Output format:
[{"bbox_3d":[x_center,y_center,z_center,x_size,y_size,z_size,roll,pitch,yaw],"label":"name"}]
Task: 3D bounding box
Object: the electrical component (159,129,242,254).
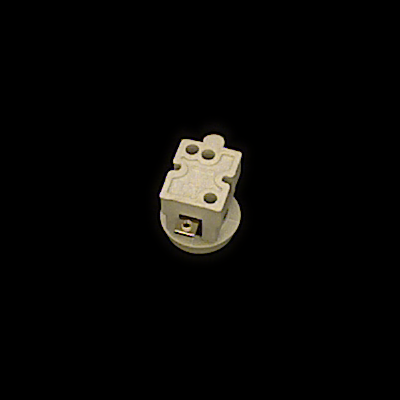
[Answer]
[{"bbox_3d":[0.000,0.000,0.639,0.048,0.066,0.055,14,-35,9],"label":"electrical component"}]
